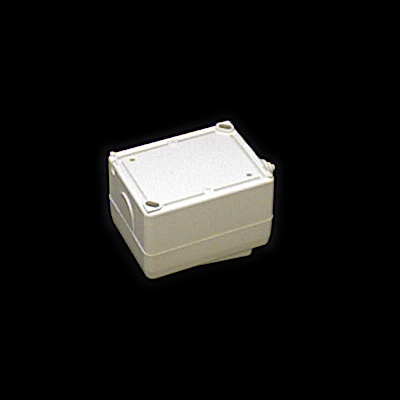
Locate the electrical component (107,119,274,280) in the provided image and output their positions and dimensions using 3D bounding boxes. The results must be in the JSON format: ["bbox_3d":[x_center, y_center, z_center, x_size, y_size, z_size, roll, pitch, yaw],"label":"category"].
[{"bbox_3d":[0.000,0.000,0.634,0.096,0.061,0.061,-17,44,-18],"label":"electrical component"}]
